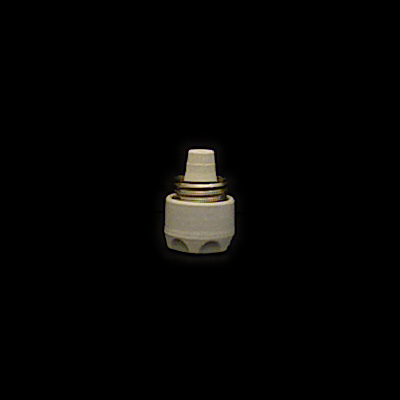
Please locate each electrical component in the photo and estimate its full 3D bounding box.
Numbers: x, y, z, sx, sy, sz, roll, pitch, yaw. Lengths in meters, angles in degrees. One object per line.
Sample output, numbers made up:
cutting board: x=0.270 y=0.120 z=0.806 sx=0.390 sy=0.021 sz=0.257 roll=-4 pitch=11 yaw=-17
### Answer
electrical component: x=0.000 y=0.000 z=0.652 sx=0.043 sy=0.062 sz=0.043 roll=2 pitch=11 yaw=0
